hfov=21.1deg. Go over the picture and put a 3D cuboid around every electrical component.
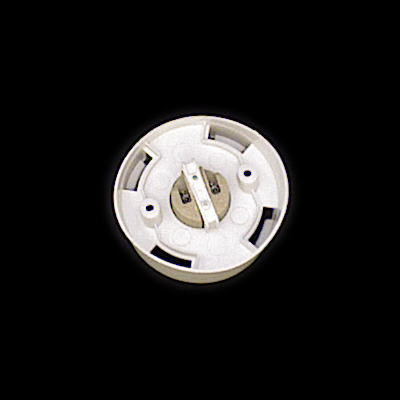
[{"bbox_3d":[0.000,0.000,0.623,0.099,0.099,0.064,0,-16,-1],"label":"electrical component"}]
